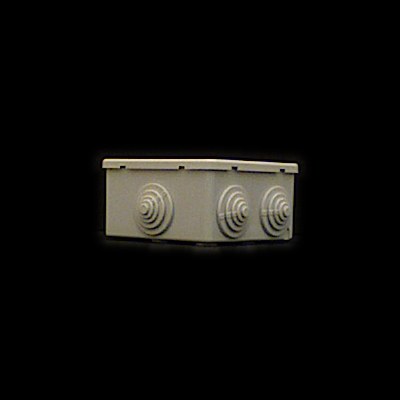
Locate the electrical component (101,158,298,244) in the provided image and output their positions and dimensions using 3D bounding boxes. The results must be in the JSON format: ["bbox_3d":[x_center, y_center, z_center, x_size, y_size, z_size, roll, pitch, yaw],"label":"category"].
[{"bbox_3d":[0.000,0.000,0.656,0.099,0.048,0.100,2,1,40],"label":"electrical component"}]
